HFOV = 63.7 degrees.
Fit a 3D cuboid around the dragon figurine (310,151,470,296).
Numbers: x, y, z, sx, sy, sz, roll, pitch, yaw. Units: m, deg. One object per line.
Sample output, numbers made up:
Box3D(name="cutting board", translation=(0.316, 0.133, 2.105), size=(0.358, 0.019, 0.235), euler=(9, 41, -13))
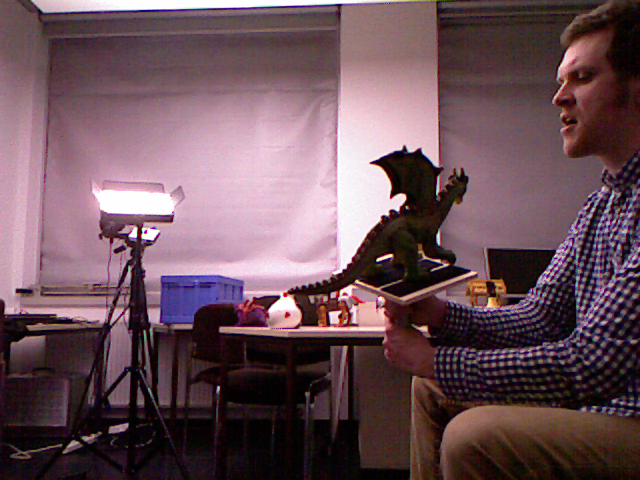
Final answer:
Box3D(name="dragon figurine", translation=(0.152, -0.047, 0.970), size=(0.414, 0.240, 0.123), euler=(-14, 19, -36))
